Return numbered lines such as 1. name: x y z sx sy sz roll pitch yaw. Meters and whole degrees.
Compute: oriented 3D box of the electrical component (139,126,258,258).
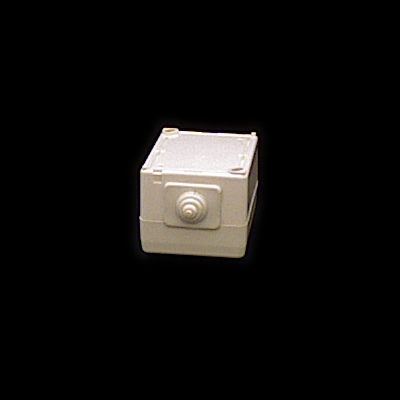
1. electrical component: 0.000 0.000 0.638 0.061 0.061 0.095 3 22 6
